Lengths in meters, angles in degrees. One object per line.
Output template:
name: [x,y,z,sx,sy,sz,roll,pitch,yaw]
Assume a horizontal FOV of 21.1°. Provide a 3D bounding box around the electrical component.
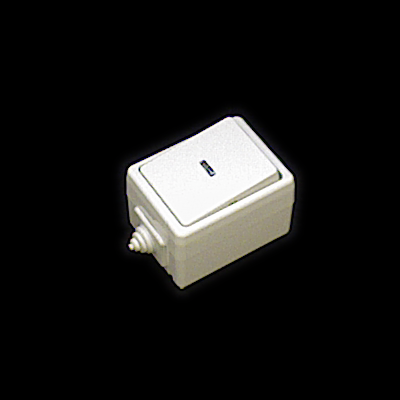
electrical component: [0.000,0.000,0.627,0.096,0.061,0.061,-27,-33,-20]
